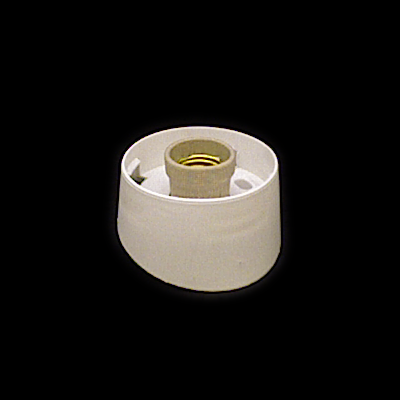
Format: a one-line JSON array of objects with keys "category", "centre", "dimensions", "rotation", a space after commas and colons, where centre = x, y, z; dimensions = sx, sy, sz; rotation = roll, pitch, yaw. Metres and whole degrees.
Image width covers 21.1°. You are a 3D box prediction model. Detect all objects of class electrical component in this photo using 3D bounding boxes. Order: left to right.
[{"category": "electrical component", "centre": [0.000, 0.000, 0.633], "dimensions": [0.099, 0.065, 0.097], "rotation": [1, 32, 0]}]
